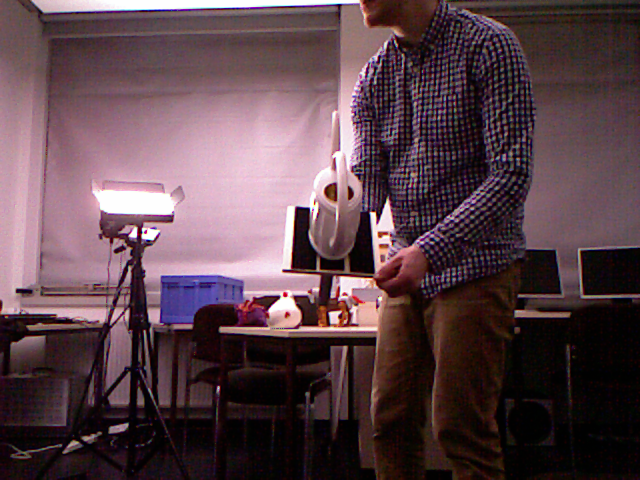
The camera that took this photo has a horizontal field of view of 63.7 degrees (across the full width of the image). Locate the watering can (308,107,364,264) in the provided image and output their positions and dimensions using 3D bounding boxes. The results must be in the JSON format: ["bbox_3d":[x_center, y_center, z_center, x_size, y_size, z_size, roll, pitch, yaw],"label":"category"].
[{"bbox_3d":[0.033,-0.101,1.070,0.104,0.357,0.219,4,-44,-5],"label":"watering can"}]
